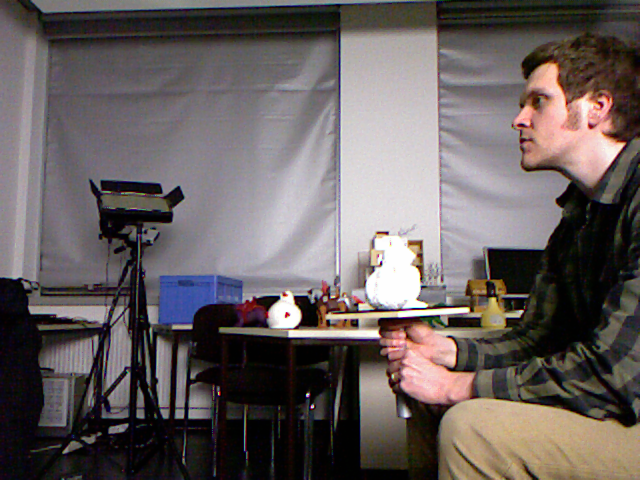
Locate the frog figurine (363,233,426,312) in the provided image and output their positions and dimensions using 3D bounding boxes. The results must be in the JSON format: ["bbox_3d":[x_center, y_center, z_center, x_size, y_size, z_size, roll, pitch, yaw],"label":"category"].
[{"bbox_3d":[0.149,0.065,1.049,0.123,0.160,0.137,0,-5,-21],"label":"frog figurine"}]
